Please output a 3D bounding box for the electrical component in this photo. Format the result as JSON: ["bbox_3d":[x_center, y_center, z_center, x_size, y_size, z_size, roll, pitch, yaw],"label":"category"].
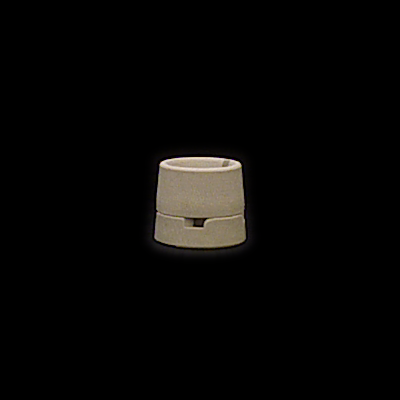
[{"bbox_3d":[0.000,0.000,0.644,0.055,0.047,0.055,0,11,0],"label":"electrical component"}]
